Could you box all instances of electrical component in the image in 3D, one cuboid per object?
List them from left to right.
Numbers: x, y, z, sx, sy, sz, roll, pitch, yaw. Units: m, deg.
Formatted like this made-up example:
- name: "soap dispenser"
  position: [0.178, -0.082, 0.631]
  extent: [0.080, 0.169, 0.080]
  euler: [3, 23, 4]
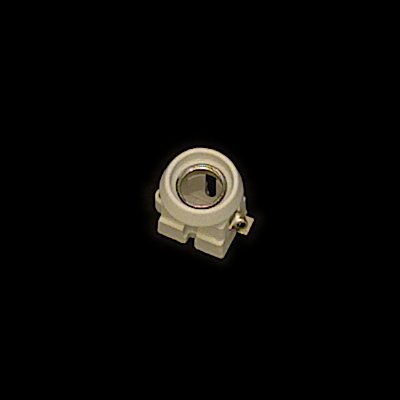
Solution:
- name: "electrical component"
  position: [0.000, 0.000, 0.637]
  extent: [0.066, 0.048, 0.055]
  euler: [21, -23, 10]
